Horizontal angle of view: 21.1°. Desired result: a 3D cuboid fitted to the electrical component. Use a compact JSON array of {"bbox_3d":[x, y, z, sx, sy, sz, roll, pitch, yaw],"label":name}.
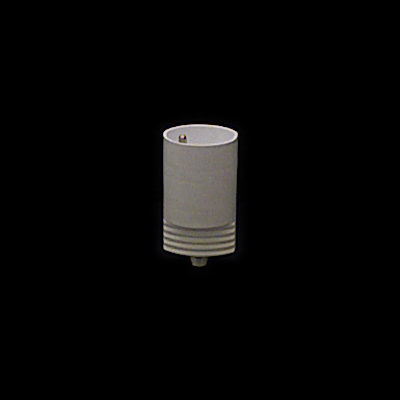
[{"bbox_3d":[0.000,0.000,0.632,0.043,0.082,0.042,0,20,0],"label":"electrical component"}]
